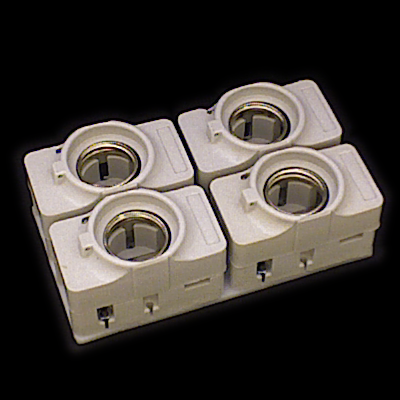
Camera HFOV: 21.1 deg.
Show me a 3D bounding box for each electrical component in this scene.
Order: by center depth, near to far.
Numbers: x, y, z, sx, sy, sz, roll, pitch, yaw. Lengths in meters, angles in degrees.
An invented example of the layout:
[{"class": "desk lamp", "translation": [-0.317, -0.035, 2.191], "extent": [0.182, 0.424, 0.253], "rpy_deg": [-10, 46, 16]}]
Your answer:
[{"class": "electrical component", "translation": [0.000, 0.000, 0.626], "extent": [0.186, 0.105, 0.060], "rpy_deg": [-16, -36, -12]}]
